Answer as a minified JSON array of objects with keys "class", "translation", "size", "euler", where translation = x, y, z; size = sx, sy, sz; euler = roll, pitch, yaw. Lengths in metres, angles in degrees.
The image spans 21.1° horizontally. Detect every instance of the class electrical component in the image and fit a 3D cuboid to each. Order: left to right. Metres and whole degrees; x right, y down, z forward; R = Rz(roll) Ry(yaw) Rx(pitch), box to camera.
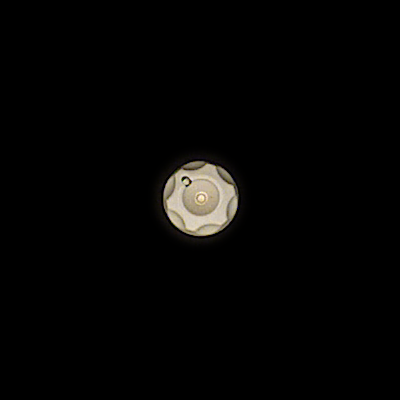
[{"class":"electrical component","translation":[0.000,0.000,0.635],"size":[0.043,0.043,0.062],"euler":[0,-5,0]}]
